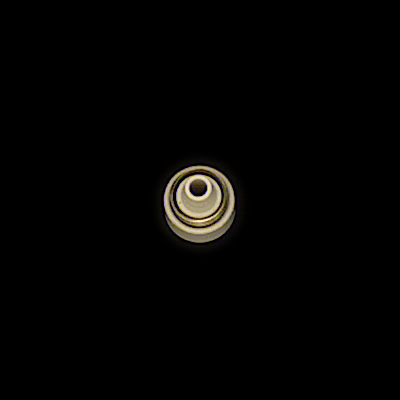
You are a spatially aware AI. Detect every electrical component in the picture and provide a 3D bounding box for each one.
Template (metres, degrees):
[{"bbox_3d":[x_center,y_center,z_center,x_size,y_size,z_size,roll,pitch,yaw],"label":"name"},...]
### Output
[{"bbox_3d":[0.000,0.000,0.633,0.043,0.043,0.061,0,-14,1],"label":"electrical component"}]
